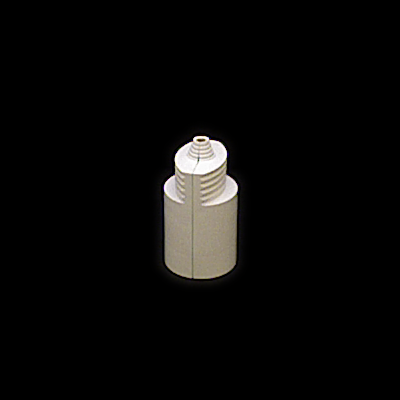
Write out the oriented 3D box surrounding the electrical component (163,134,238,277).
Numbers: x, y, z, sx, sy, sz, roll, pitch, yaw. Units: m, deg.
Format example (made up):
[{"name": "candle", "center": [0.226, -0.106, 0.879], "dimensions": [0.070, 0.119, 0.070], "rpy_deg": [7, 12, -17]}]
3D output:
[{"name": "electrical component", "center": [0.000, 0.000, 0.629], "dimensions": [0.043, 0.082, 0.042], "rpy_deg": [1, 31, 0]}]
